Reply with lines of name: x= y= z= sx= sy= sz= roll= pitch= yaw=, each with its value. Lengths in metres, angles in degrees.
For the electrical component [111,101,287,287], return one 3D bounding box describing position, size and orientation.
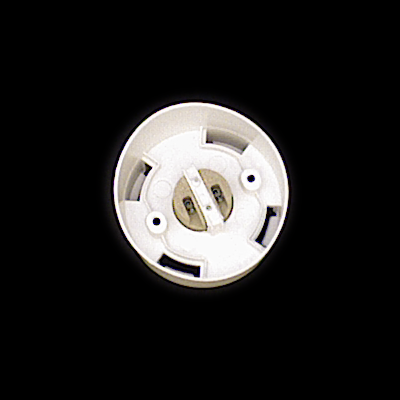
electrical component: x=0.000 y=0.000 z=0.623 sx=0.099 sy=0.099 sz=0.064 roll=0 pitch=-17 yaw=1
